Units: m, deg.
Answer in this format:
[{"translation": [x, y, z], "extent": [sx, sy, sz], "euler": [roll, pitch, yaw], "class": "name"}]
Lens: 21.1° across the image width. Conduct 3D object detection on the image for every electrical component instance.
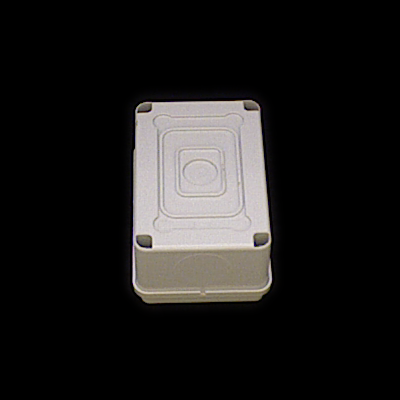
[{"translation": [0.000, 0.000, 0.629], "extent": [0.078, 0.112, 0.057], "euler": [-1, -37, -2], "class": "electrical component"}]
